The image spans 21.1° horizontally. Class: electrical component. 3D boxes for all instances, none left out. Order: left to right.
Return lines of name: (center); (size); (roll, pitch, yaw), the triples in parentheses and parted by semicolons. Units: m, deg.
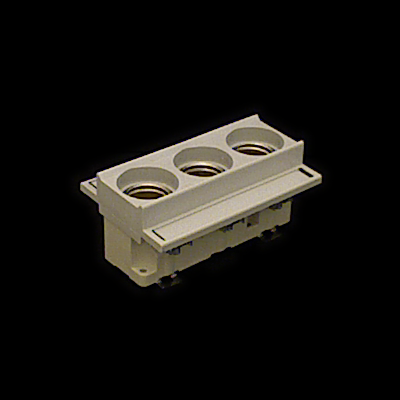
electrical component: (0.000, 0.000, 0.646); (0.121, 0.064, 0.077); (-22, 40, -32)
